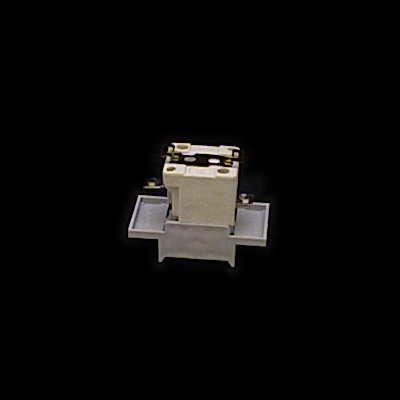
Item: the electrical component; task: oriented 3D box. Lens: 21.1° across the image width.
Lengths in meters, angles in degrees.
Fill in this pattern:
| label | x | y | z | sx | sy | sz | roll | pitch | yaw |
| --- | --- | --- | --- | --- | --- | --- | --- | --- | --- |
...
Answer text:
| label | x | y | z | sx | sy | sz | roll | pitch | yaw |
| --- | --- | --- | --- | --- | --- | --- | --- | --- | --- |
| electrical component | 0.000 | 0.000 | 0.634 | 0.081 | 0.064 | 0.041 | 3 | 31 | 4 |
